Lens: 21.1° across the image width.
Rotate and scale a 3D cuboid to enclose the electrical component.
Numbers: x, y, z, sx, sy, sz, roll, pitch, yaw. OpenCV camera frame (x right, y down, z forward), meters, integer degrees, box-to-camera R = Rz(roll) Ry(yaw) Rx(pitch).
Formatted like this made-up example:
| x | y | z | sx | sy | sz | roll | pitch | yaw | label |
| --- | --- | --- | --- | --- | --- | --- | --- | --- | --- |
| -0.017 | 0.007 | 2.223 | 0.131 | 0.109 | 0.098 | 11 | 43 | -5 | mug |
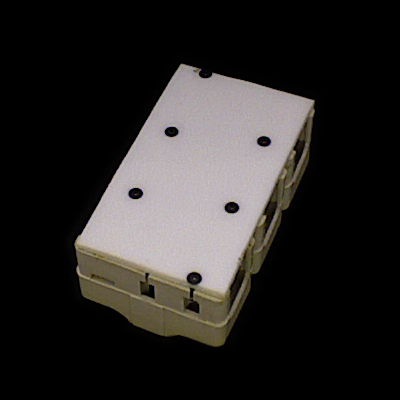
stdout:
| x | y | z | sx | sy | sz | roll | pitch | yaw | label |
| --- | --- | --- | --- | --- | --- | --- | --- | --- | --- |
| 0.000 | 0.000 | 0.631 | 0.089 | 0.148 | 0.062 | 18 | -35 | 13 | electrical component |
